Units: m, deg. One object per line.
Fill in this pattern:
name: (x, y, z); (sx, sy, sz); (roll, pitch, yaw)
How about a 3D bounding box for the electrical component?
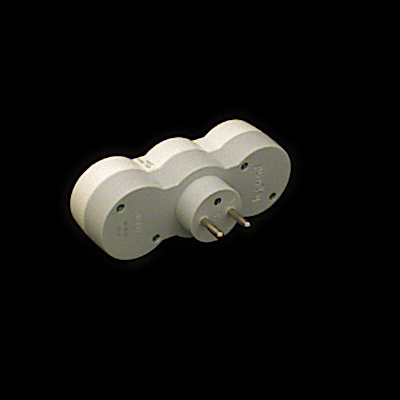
electrical component: (0.000, 0.000, 0.641); (0.139, 0.053, 0.072); (-19, 39, -29)
